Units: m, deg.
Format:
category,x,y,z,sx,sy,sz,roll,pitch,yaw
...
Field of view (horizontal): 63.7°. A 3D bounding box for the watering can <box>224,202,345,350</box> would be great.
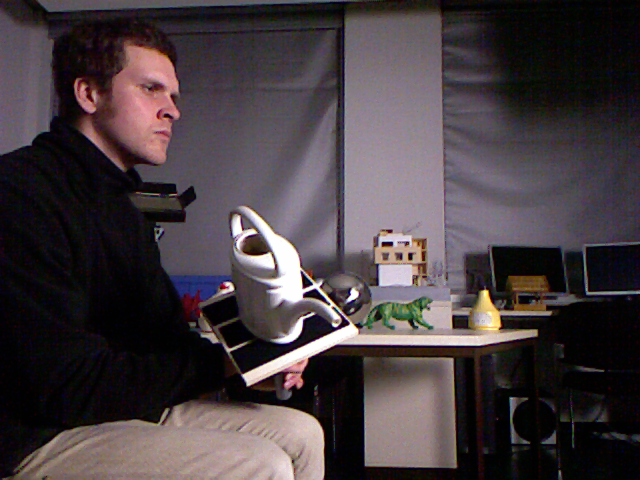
category,x,y,z,sx,sy,sz,roll,pitch,yaw
watering can,-0.066,0.082,0.789,0.105,0.220,0.354,-22,41,-22
